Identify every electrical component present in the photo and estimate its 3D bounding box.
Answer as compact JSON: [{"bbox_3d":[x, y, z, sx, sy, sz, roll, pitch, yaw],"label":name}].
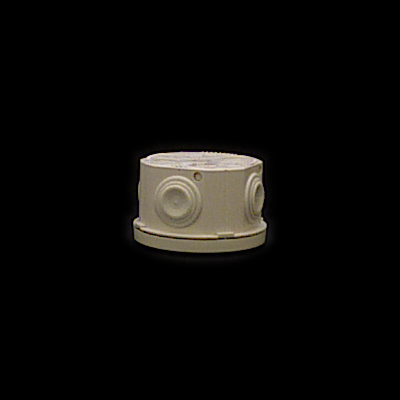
[{"bbox_3d":[0.000,0.000,0.644,0.080,0.051,0.079,2,11,0],"label":"electrical component"}]
